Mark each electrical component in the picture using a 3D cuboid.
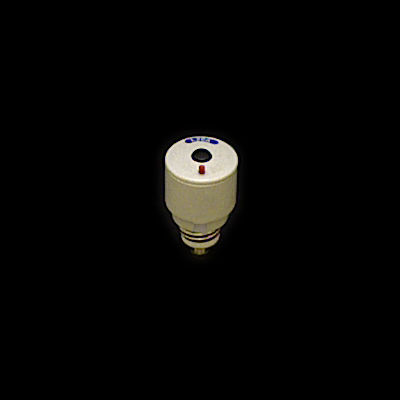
[{"bbox_3d":[0.000,0.000,0.622,0.040,0.079,0.039,1,42,0],"label":"electrical component"}]
